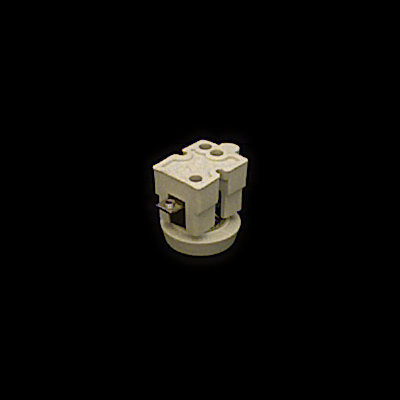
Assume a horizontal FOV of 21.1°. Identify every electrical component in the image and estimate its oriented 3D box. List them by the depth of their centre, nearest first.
[{"bbox_3d":[0.000,0.000,0.644,0.048,0.056,0.066,27,42,33],"label":"electrical component"}]
